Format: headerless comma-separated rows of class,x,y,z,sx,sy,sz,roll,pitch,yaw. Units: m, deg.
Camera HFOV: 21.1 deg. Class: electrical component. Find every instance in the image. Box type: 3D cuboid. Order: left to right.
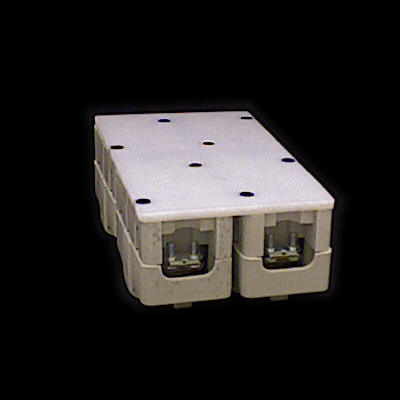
electrical component,0.000,0.000,0.638,0.106,0.061,0.183,-3,21,-12
